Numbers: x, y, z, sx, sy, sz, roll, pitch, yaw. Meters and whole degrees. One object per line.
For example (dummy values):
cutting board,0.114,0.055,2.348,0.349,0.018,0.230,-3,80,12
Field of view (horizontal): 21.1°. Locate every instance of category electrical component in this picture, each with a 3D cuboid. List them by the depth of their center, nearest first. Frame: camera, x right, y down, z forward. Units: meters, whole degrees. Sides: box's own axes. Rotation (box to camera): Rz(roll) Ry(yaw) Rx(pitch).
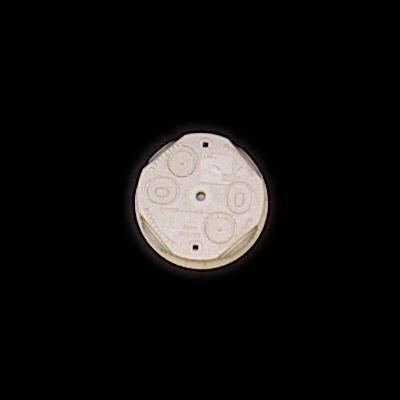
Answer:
electrical component,0.000,0.000,0.633,0.080,0.080,0.050,0,-7,0
